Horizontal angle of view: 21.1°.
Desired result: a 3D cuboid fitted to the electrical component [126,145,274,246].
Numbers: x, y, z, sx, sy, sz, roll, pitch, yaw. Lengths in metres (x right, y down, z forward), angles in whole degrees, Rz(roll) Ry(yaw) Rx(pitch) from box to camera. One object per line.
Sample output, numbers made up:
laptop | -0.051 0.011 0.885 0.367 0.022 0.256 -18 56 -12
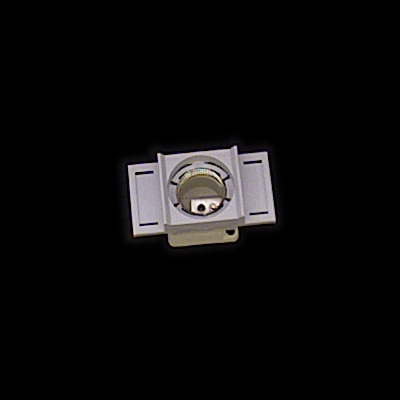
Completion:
electrical component | 0.000 0.000 0.624 0.081 0.042 0.063 -5 -18 -1
